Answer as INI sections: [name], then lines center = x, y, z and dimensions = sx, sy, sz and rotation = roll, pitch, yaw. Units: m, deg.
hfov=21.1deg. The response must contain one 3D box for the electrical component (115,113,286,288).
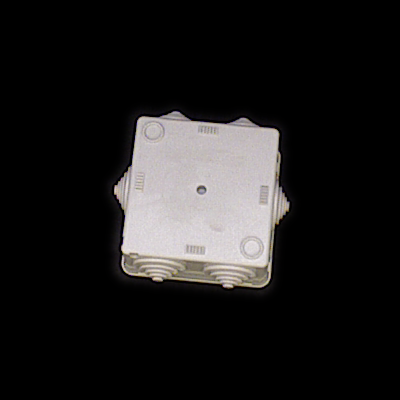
[electrical component]
center = 0.000, 0.000, 0.631
dimensions = 0.100, 0.100, 0.048
rotation = 6, -17, 2
